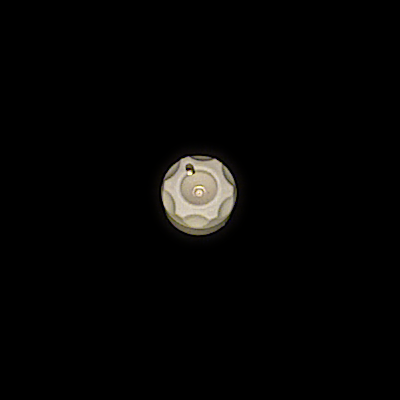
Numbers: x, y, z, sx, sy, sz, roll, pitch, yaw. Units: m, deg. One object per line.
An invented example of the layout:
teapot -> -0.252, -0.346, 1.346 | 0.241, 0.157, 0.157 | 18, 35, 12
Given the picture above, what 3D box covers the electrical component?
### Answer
electrical component -> 0.000, 0.000, 0.634 | 0.043, 0.043, 0.061 | 0, -15, 0
